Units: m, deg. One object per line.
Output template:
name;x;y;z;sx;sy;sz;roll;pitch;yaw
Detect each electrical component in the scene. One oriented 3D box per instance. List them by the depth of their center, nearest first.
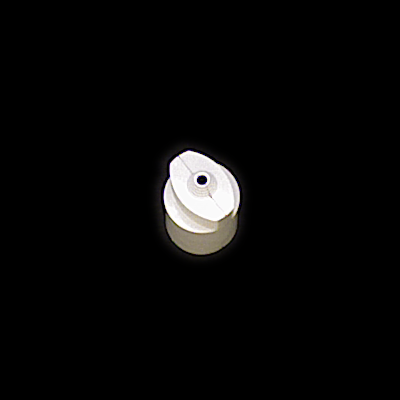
electrical component;0.000;0.000;0.616;0.043;0.043;0.080;0;-17;0
